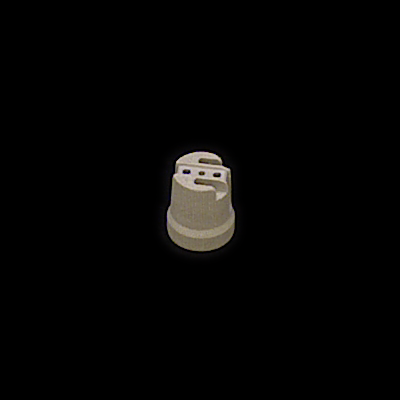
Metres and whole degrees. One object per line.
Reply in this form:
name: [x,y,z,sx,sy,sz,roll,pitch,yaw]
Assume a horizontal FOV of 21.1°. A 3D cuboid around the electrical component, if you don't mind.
electrical component: [0.000,0.000,0.635,0.040,0.046,0.040,0,43,0]
